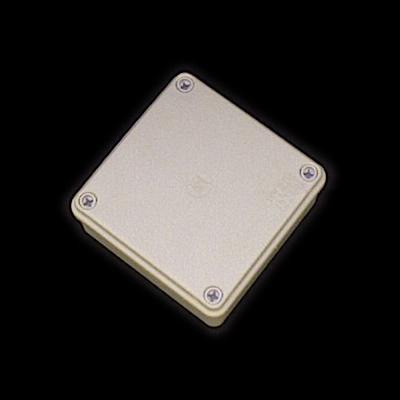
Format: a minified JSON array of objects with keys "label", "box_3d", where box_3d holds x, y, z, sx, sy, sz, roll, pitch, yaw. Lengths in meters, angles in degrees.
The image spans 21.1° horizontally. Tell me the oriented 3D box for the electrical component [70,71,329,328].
[{"label":"electrical component","box_3d":[0.000,0.000,0.629,0.109,0.109,0.056,36,-14,10]}]
